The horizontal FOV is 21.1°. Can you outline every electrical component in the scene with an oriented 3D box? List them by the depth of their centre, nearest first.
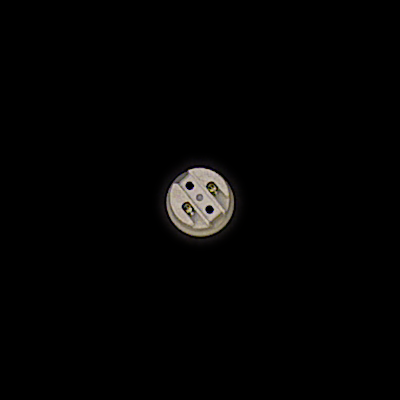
[{"bbox_3d":[0.000,0.000,0.634,0.040,0.040,0.046,0,-6,1],"label":"electrical component"}]
